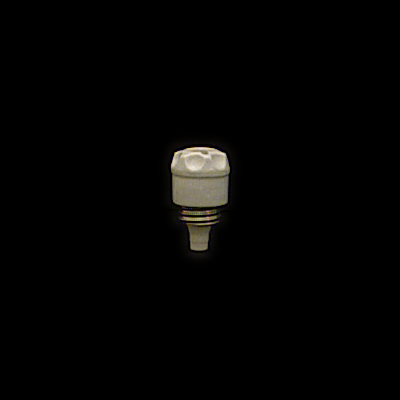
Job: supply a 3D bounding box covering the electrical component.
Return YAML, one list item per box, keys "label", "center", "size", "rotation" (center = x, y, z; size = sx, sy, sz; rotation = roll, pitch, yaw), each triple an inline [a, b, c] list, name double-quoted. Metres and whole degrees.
- label: "electrical component"
  center: [0.000, 0.000, 0.649]
  size: [0.035, 0.062, 0.035]
  rotation: [1, 12, 0]
